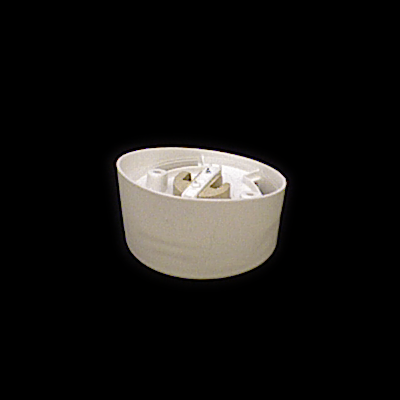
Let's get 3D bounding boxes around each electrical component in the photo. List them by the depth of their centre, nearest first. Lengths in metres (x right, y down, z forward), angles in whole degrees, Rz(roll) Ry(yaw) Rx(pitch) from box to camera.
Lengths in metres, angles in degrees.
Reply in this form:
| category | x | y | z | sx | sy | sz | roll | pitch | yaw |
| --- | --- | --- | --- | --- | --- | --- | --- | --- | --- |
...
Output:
| category | x | y | z | sx | sy | sz | roll | pitch | yaw |
| --- | --- | --- | --- | --- | --- | --- | --- | --- | --- |
| electrical component | 0.000 | 0.000 | 0.632 | 0.099 | 0.065 | 0.097 | 1 | 32 | 0 |
